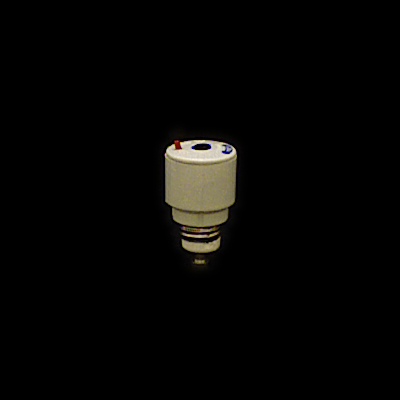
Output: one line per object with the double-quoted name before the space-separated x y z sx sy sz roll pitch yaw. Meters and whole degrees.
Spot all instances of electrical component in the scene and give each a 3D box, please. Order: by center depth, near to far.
"electrical component" 0.000 0.000 0.635 0.040 0.079 0.039 1 21 0
